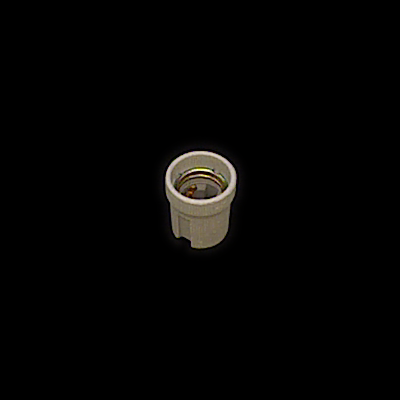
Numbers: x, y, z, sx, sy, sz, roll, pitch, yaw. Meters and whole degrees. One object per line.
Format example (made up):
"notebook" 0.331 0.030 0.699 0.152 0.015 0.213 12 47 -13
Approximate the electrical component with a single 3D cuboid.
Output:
"electrical component" 0.000 0.000 0.632 0.040 0.039 0.047 0 -38 -1
